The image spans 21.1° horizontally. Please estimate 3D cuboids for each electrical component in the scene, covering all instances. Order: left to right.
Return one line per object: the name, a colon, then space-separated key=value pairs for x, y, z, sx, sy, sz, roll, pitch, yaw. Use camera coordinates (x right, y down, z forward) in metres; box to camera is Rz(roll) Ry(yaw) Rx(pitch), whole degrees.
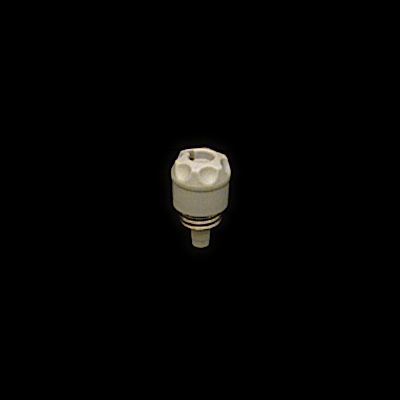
electrical component: x=0.000 y=0.000 z=0.643 sx=0.035 sy=0.062 sz=0.034 roll=1 pitch=32 yaw=0
